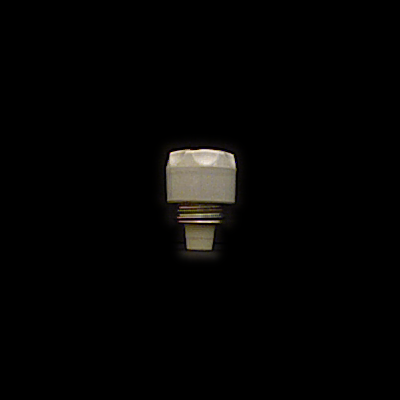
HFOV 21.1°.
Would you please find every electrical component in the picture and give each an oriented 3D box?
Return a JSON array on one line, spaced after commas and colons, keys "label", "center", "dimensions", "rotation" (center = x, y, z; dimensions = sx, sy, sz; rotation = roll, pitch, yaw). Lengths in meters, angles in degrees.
[{"label": "electrical component", "center": [0.000, 0.000, 0.658], "dimensions": [0.043, 0.062, 0.043], "rotation": [1, 1, 1]}]
